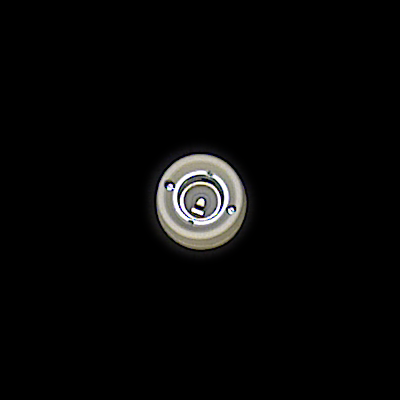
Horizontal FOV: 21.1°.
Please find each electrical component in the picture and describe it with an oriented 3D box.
[{"bbox_3d":[0.000,0.000,0.634,0.055,0.055,0.047,0,-7,1],"label":"electrical component"}]
